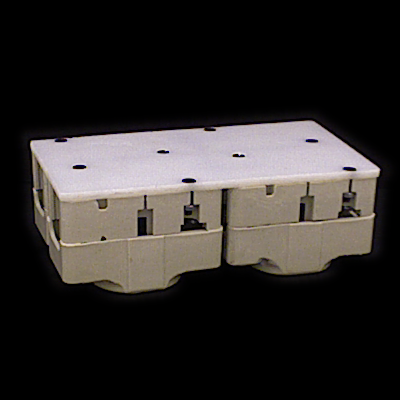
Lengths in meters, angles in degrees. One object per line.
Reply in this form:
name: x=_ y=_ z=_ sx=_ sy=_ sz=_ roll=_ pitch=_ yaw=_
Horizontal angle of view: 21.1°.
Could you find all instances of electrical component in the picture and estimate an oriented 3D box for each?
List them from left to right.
electrical component: x=0.000 y=0.000 z=0.638 sx=0.186 sy=0.061 sz=0.104 roll=-5 pitch=21 yaw=-17
